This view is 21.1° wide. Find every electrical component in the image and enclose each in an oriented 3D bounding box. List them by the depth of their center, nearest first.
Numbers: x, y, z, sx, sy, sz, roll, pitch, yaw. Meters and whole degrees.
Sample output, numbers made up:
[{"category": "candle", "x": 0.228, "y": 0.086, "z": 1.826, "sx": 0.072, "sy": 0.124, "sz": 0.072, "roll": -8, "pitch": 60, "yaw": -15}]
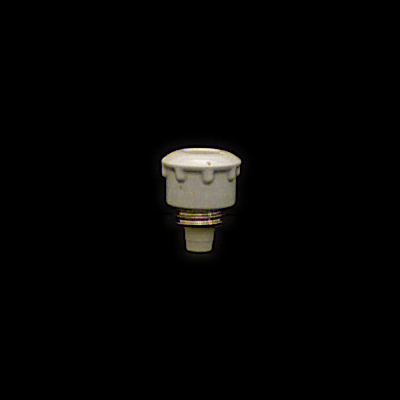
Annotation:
[{"category": "electrical component", "x": 0.000, "y": 0.000, "z": 0.653, "sx": 0.048, "sy": 0.062, "sz": 0.048, "roll": 1, "pitch": 11, "yaw": 0}]
